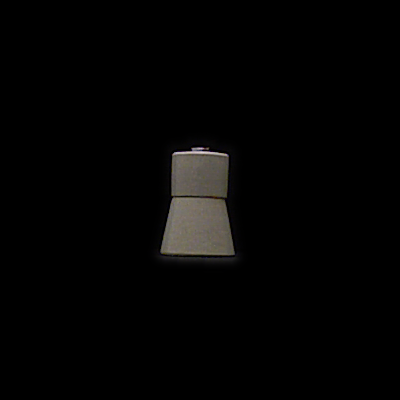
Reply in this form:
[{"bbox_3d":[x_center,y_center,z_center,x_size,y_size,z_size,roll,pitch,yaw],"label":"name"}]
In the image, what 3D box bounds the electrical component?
[{"bbox_3d":[0.000,0.000,0.650,0.044,0.065,0.044,2,0,0],"label":"electrical component"}]
